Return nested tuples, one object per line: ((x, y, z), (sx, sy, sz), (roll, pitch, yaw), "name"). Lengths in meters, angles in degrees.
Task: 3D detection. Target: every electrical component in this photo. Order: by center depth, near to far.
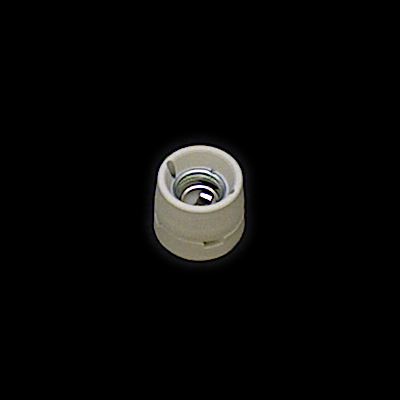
((0.000, 0.000, 0.633), (0.055, 0.055, 0.047), (0, -37, -1), "electrical component")
